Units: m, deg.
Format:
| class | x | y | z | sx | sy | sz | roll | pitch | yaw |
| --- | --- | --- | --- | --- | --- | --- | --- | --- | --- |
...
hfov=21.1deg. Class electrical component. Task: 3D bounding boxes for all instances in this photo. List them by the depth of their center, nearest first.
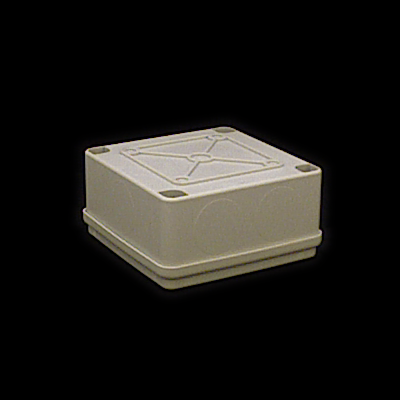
| class | x | y | z | sx | sy | sz | roll | pitch | yaw |
| --- | --- | --- | --- | --- | --- | --- | --- | --- | --- |
| electrical component | 0.000 | 0.000 | 0.638 | 0.109 | 0.057 | 0.107 | -11 | 24 | -29 |
